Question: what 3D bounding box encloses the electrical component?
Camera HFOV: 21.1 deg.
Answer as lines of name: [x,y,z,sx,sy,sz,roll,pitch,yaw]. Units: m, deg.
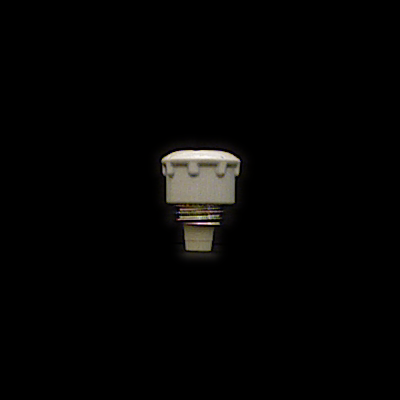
electrical component: [0.000,0.000,0.656,0.048,0.062,0.048,1,2,0]
